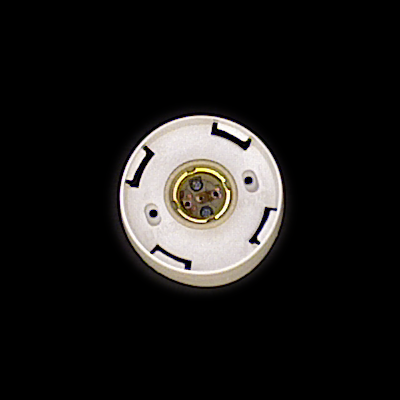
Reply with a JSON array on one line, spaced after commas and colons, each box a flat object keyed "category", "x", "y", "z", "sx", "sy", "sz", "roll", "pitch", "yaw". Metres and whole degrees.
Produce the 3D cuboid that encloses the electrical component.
[{"category": "electrical component", "x": 0.000, "y": 0.000, "z": 0.625, "sx": 0.099, "sy": 0.099, "sz": 0.064, "roll": 0, "pitch": -6, "yaw": 0}]
